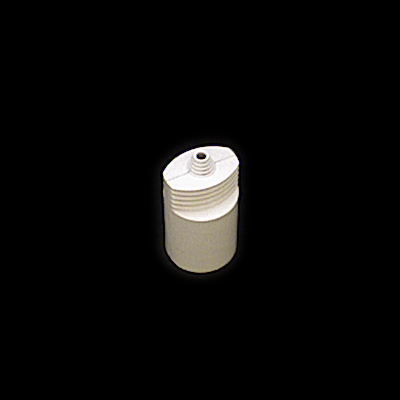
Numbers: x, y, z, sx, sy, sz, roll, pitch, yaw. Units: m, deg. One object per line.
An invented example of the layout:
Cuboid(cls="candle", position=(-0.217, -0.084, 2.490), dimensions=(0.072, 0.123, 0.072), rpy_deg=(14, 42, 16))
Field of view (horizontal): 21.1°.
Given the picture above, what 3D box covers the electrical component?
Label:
Cuboid(cls="electrical component", position=(0.000, 0.000, 0.620), dimensions=(0.043, 0.043, 0.081), rpy_deg=(0, -38, 0))
